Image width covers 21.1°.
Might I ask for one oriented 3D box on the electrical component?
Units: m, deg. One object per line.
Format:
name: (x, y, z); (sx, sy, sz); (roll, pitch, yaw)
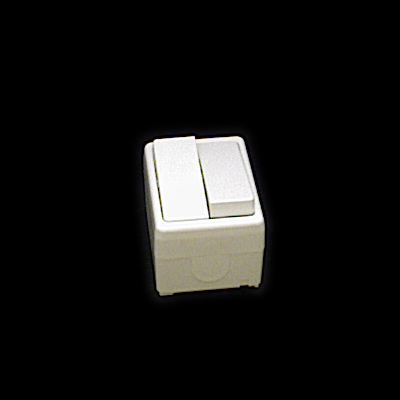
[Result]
electrical component: (0.000, 0.000, 0.633); (0.062, 0.061, 0.095); (-4, 42, -6)
